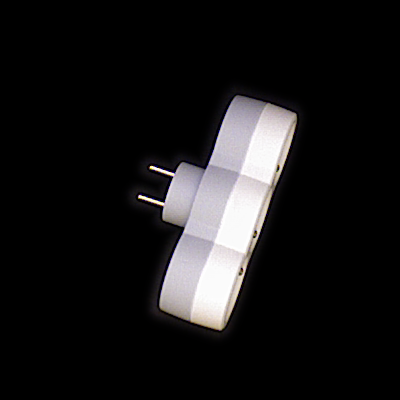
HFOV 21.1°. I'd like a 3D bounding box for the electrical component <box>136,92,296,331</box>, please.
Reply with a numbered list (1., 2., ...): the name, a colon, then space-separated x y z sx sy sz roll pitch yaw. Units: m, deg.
1. electrical component: 0.000 0.000 0.629 0.074 0.139 0.052 18 -15 8
